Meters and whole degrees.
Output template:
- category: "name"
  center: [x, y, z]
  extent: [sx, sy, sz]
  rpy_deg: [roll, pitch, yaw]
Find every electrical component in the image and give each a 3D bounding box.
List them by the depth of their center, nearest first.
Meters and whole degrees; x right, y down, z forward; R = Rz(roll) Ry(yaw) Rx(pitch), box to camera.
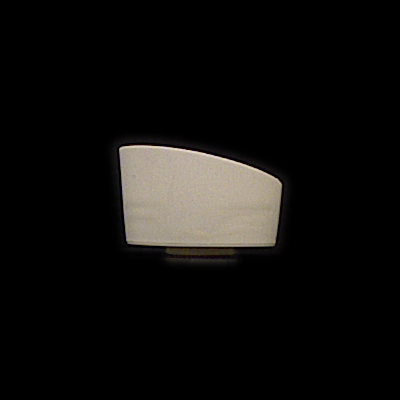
- category: "electrical component"
  center: [0.000, 0.000, 0.648]
  extent: [0.099, 0.064, 0.099]
  rpy_deg: [1, 1, 0]
